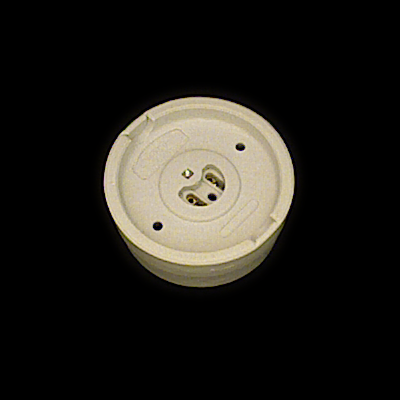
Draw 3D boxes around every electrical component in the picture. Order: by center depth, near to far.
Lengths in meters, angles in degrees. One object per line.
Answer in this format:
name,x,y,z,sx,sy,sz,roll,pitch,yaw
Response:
electrical component,0.000,0.000,0.634,0.108,0.108,0.060,0,-26,-1
